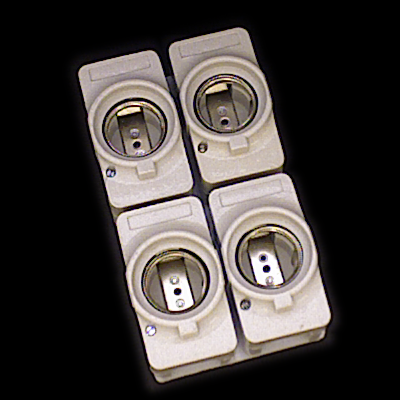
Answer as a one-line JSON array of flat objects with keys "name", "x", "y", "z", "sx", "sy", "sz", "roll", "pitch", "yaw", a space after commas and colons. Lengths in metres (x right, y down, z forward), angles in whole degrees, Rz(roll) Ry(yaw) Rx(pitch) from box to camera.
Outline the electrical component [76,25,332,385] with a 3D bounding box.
[{"name": "electrical component", "x": 0.000, "y": 0.000, "z": 0.625, "sx": 0.106, "sy": 0.187, "sz": 0.060, "roll": -14, "pitch": -16, "yaw": -4}]
